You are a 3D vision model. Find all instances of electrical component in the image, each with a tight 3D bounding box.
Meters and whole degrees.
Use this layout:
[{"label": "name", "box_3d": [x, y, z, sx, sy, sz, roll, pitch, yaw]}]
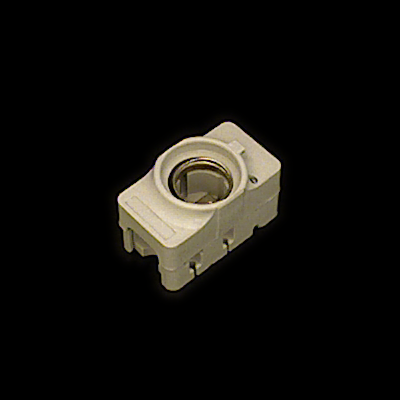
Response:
[{"label": "electrical component", "box_3d": [0.000, 0.000, 0.637, 0.090, 0.056, 0.050, -37, 61, -24]}]
